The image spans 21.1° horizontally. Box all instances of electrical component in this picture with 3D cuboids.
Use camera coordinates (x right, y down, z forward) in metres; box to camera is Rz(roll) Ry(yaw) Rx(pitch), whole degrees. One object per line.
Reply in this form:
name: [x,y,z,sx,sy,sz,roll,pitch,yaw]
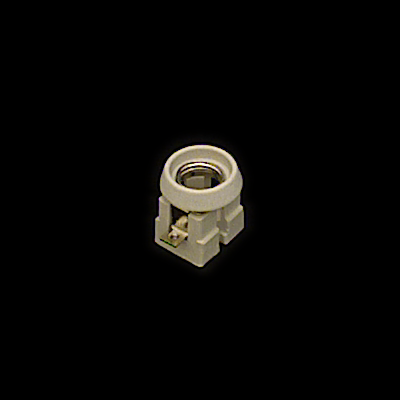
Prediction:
electrical component: [0.000,0.000,0.639,0.048,0.056,0.066,25,48,27]
